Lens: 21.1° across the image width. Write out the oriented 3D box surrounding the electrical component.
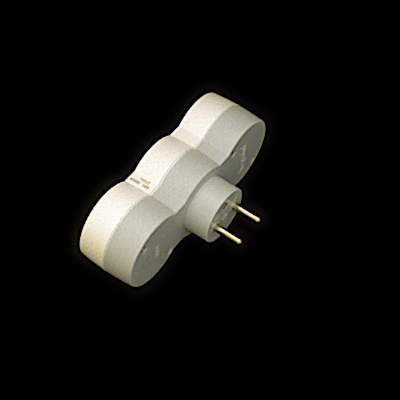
[{"bbox_3d":[0.000,0.000,0.637,0.073,0.139,0.052,31,-31,19],"label":"electrical component"}]
